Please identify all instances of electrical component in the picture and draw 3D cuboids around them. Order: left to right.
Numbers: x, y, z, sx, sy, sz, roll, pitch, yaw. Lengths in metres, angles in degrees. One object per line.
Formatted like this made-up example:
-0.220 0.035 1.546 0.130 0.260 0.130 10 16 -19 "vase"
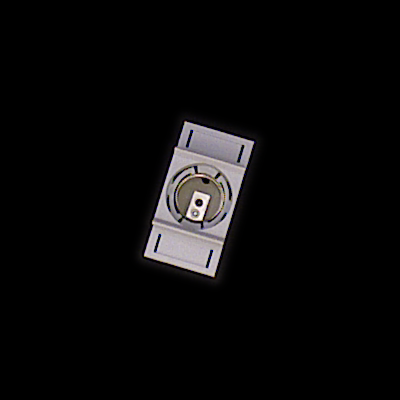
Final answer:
0.000 0.000 0.624 0.042 0.081 0.063 17 -7 1 "electrical component"
